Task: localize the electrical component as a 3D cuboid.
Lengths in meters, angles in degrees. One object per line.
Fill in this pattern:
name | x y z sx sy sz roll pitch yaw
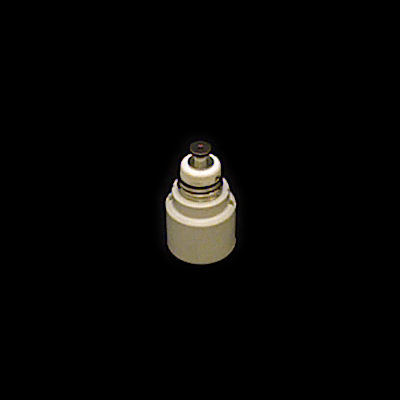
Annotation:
electrical component | 0.000 0.000 0.624 0.040 0.079 0.039 0 42 0
